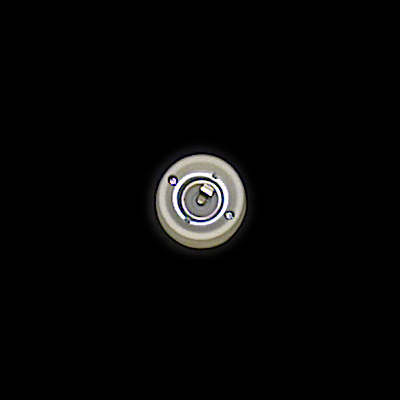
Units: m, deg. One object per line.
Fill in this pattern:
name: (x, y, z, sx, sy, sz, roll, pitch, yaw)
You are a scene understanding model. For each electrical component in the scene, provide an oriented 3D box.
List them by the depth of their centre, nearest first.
electrical component: (0.000, 0.000, 0.633, 0.055, 0.055, 0.047, 0, -6, 0)
